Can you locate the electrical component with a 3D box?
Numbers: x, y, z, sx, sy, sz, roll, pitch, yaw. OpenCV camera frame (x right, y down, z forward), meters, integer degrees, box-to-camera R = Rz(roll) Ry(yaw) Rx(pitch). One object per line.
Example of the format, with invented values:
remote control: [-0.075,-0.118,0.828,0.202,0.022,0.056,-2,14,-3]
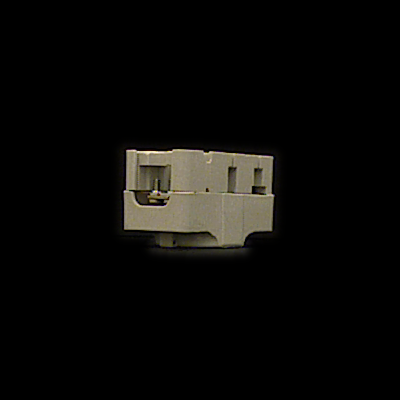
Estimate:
electrical component: [0.000,0.000,0.656,0.049,0.056,0.090,3,3,39]
